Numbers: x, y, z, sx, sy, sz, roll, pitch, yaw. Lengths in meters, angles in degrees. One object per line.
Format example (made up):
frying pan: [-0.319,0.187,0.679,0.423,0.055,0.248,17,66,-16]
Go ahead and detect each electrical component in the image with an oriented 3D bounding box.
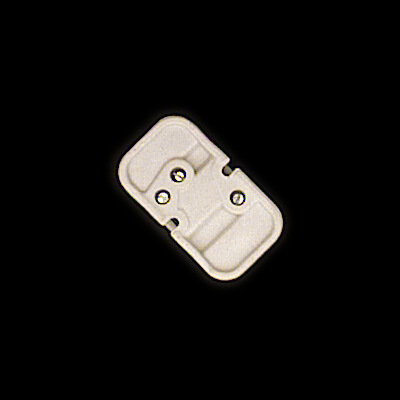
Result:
electrical component: [0.000,0.000,0.636,0.054,0.095,0.059,-45,-4,-3]
